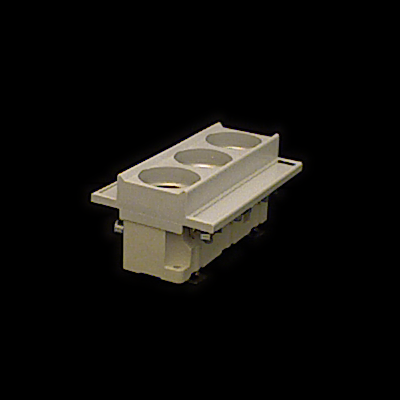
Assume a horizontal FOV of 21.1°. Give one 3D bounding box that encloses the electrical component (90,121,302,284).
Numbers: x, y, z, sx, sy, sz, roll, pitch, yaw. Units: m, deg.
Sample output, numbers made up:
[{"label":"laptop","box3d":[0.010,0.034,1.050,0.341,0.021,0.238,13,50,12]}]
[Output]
[{"label":"electrical component","box3d":[0.000,0.000,0.652,0.078,0.064,0.120,14,24,25]}]
